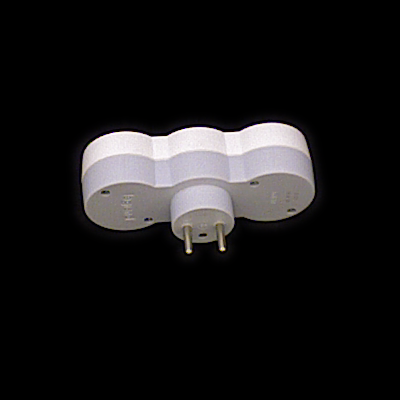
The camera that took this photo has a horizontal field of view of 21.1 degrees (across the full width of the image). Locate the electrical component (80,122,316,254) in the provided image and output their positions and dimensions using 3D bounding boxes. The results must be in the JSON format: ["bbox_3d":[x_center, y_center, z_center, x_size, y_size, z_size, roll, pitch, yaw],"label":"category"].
[{"bbox_3d":[0.000,0.000,0.632,0.138,0.073,0.052,-4,-35,-4],"label":"electrical component"}]
